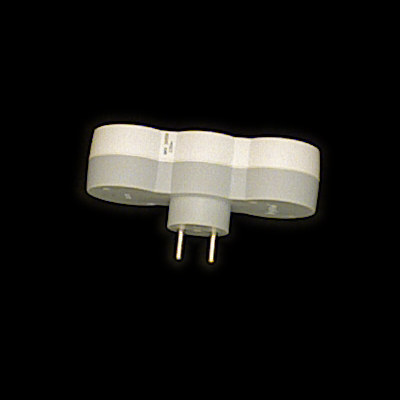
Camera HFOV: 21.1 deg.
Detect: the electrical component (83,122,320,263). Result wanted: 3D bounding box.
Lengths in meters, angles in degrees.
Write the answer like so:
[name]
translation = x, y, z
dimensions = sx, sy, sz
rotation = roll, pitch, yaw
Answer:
[electrical component]
translation = 0.000, 0.000, 0.637
dimensions = 0.138, 0.074, 0.052
rotation = 5, -15, 1
